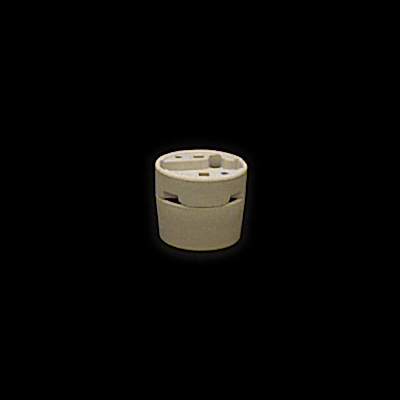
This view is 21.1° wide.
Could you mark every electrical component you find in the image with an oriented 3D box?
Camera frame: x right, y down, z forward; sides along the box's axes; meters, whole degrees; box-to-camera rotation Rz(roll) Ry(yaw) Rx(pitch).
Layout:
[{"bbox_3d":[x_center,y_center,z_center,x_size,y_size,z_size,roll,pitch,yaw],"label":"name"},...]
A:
[{"bbox_3d":[0.000,0.000,0.643,0.055,0.047,0.055,1,22,0],"label":"electrical component"}]
